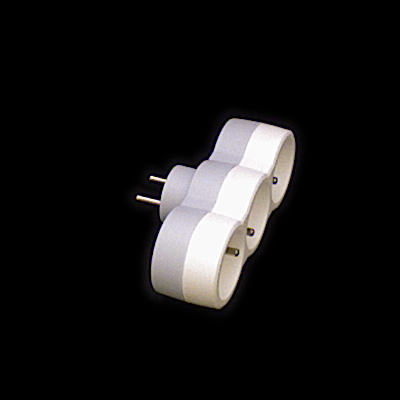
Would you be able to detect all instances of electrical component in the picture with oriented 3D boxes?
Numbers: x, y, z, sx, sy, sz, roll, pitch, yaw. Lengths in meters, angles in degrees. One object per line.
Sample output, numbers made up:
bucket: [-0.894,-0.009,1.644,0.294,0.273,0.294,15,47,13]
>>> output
electrical component: [0.000,0.000,0.631,0.073,0.052,0.138,14,45,17]
